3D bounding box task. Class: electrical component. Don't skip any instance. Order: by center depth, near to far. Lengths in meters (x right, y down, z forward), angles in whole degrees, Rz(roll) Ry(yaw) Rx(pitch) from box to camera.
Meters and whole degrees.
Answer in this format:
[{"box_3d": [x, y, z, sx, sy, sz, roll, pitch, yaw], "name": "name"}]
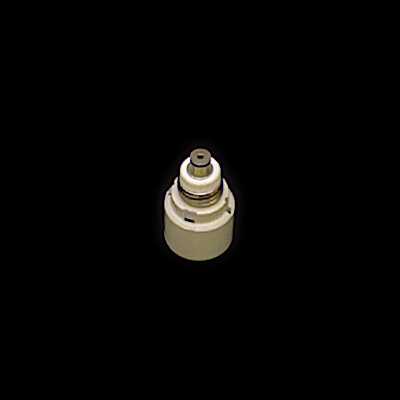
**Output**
[{"box_3d": [0.000, 0.000, 0.621, 0.040, 0.040, 0.079, 0, -38, -2], "name": "electrical component"}]
